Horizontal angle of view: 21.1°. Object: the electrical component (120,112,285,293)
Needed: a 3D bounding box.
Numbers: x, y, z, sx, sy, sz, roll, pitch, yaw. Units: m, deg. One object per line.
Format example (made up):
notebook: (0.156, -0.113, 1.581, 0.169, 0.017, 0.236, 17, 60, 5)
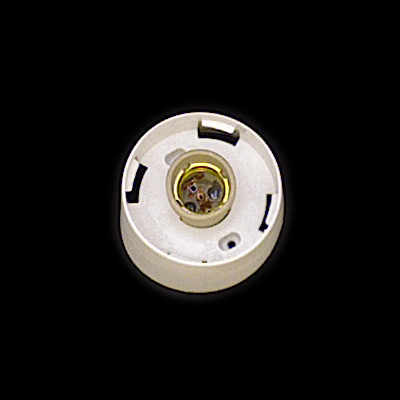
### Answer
electrical component: (0.000, 0.000, 0.625, 0.099, 0.099, 0.064, 0, -17, 0)
